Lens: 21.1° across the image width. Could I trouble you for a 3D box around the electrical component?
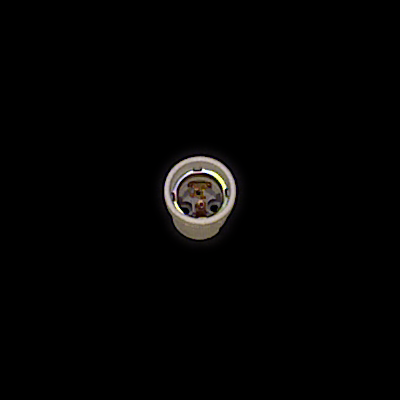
[{"bbox_3d":[0.000,0.000,0.627,0.040,0.040,0.046,0,-17,-1],"label":"electrical component"}]
